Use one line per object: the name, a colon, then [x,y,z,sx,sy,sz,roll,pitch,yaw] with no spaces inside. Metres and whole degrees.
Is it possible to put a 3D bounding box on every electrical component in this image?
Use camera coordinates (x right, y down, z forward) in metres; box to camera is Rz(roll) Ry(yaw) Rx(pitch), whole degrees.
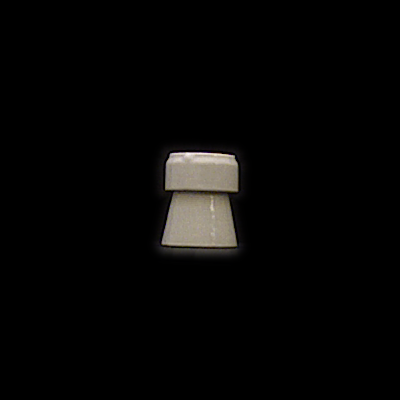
electrical component: [0.000,0.000,0.649,0.045,0.055,0.044,1,2,0]
